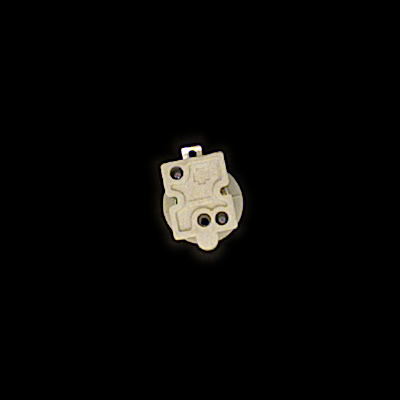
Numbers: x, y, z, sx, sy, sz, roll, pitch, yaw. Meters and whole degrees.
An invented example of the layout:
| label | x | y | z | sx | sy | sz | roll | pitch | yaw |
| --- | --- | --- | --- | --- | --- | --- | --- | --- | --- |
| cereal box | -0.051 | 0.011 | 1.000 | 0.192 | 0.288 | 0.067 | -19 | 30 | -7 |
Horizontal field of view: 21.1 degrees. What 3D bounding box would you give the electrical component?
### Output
| label | x | y | z | sx | sy | sz | roll | pitch | yaw |
| --- | --- | --- | --- | --- | --- | --- | --- | --- | --- |
| electrical component | 0.000 | 0.000 | 0.639 | 0.048 | 0.066 | 0.055 | -11 | -7 | 1 |
